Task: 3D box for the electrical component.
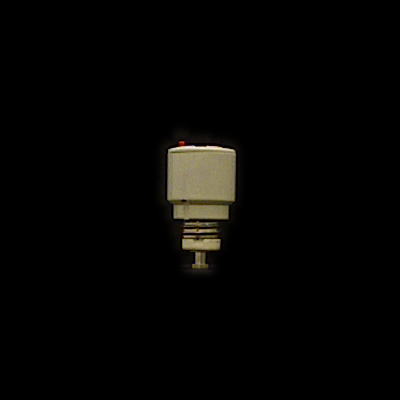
[{"bbox_3d":[0.000,0.000,0.652,0.040,0.078,0.040,1,1,0],"label":"electrical component"}]
